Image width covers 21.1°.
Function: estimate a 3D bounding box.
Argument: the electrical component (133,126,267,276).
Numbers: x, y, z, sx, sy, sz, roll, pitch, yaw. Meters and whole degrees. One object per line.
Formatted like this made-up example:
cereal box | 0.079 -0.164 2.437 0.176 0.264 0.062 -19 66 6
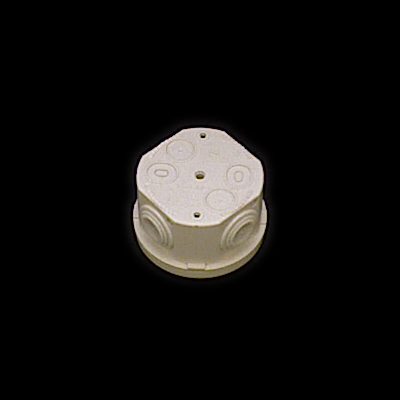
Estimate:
electrical component | 0.000 0.000 0.633 0.080 0.080 0.051 0 -38 -1
